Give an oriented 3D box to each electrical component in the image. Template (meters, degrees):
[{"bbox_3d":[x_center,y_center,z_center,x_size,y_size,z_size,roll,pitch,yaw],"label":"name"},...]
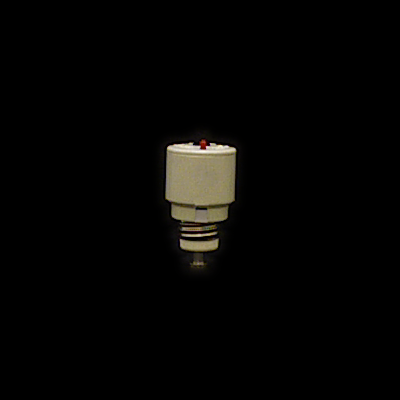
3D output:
[{"bbox_3d":[0.000,0.000,0.640,0.040,0.079,0.040,1,12,0],"label":"electrical component"}]
